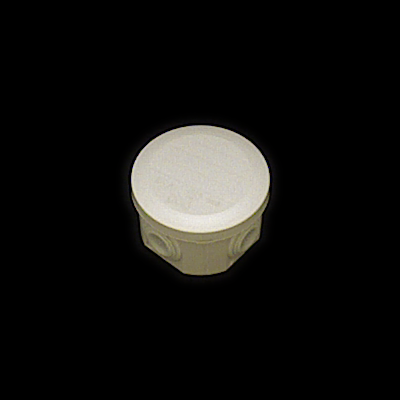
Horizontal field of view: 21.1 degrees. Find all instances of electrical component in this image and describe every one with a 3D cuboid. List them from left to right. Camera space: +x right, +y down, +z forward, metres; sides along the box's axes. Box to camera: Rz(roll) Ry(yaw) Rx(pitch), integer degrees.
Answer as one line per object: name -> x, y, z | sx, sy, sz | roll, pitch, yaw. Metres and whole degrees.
electrical component -> 0.000, 0.000, 0.632 | 0.080, 0.080, 0.051 | 0, -38, 0
